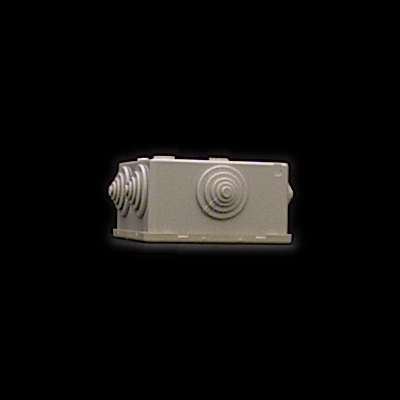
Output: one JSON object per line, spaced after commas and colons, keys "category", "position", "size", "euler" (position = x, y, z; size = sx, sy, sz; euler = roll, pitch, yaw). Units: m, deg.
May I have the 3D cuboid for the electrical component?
{"category": "electrical component", "position": [0.000, 0.000, 0.649], "size": [0.100, 0.048, 0.099], "euler": [1, 0, -18]}
